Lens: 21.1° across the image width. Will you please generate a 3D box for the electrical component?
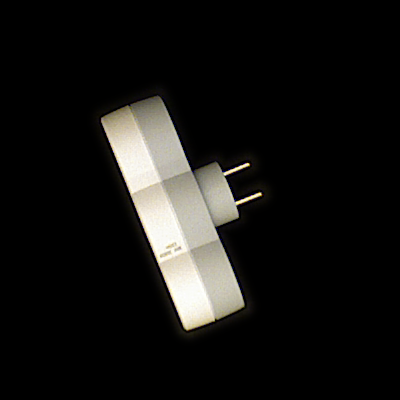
[{"bbox_3d":[0.000,0.000,0.639,0.074,0.138,0.052,-22,-5,-3],"label":"electrical component"}]
